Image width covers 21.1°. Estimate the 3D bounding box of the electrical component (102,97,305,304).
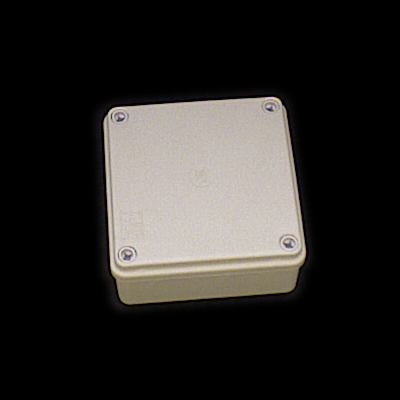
[{"bbox_3d":[0.000,0.000,0.630,0.109,0.109,0.056,-4,-28,-3],"label":"electrical component"}]
